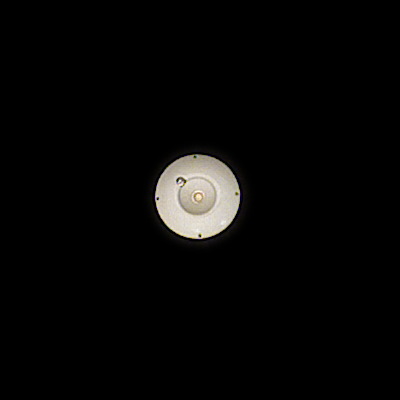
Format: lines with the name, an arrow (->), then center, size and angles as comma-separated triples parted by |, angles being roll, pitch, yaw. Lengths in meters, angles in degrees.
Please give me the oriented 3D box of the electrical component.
electrical component -> 0.000, 0.000, 0.634 | 0.048, 0.048, 0.061 | 0, -6, 1
